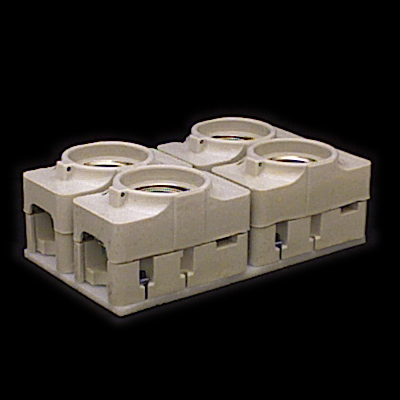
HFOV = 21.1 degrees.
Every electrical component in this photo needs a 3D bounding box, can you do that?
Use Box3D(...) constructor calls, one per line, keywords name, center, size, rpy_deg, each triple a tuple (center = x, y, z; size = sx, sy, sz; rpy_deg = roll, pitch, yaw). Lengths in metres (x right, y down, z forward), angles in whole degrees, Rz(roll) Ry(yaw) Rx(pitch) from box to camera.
Box3D(name="electrical component", center=(0.000, 0.000, 0.637), size=(0.186, 0.061, 0.104), rpy_deg=(-14, 25, -35))
